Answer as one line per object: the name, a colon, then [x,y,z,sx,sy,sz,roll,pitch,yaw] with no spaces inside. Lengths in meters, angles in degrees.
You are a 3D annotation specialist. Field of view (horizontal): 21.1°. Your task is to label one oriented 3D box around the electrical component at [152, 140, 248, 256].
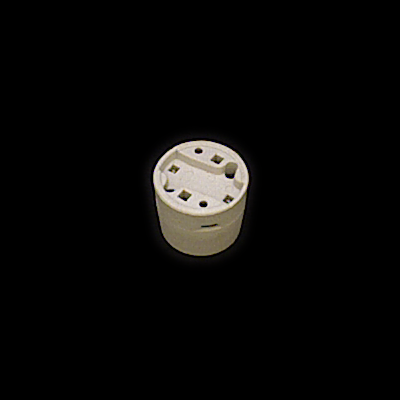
electrical component: [0.000,0.000,0.635,0.055,0.055,0.047,0,-38,0]
